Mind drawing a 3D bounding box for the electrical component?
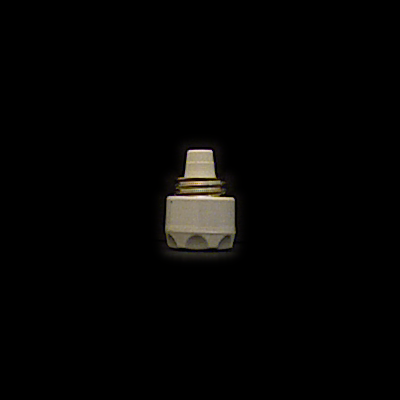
[{"bbox_3d":[0.000,0.000,0.656,0.043,0.062,0.043,0,2,1],"label":"electrical component"}]
